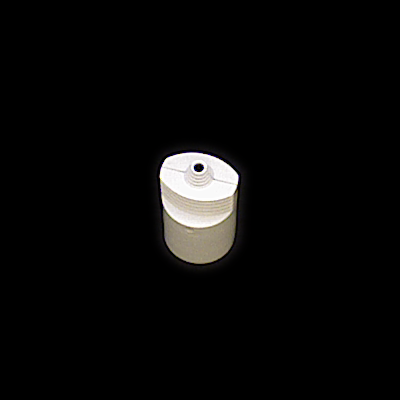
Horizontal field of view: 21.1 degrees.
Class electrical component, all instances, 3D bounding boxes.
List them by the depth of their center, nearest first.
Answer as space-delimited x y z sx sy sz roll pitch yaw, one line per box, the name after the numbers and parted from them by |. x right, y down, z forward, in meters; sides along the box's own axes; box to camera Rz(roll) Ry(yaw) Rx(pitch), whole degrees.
0.000 0.000 0.617 0.043 0.043 0.081 0 -27 0 | electrical component
